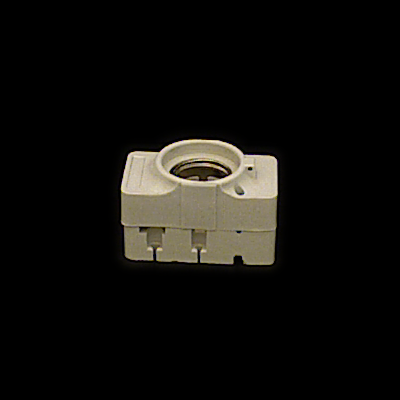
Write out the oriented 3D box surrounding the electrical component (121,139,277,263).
[{"bbox_3d":[0.000,0.000,0.642,0.089,0.056,0.049,2,32,1],"label":"electrical component"}]
